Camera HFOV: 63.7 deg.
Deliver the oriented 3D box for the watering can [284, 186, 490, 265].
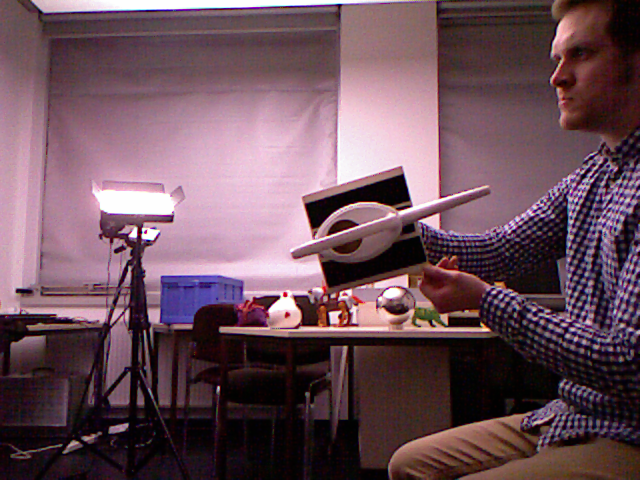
[{"bbox_3d":[0.108,-0.028,0.903,0.348,0.104,0.226,-17,5,7],"label":"watering can"}]
